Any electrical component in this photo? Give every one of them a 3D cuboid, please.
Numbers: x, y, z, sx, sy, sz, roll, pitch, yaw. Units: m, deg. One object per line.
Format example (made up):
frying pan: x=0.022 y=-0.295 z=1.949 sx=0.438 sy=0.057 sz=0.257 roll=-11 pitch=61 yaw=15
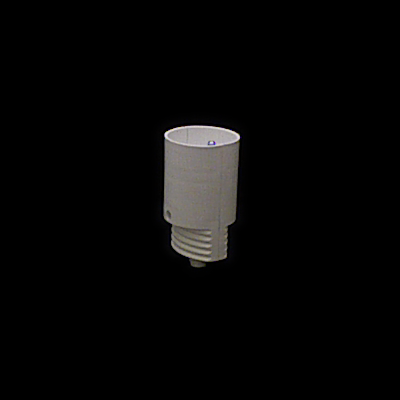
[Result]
electrical component: x=0.000 y=0.000 z=0.634 sx=0.043 sy=0.082 sz=0.042 roll=1 pitch=22 yaw=0
